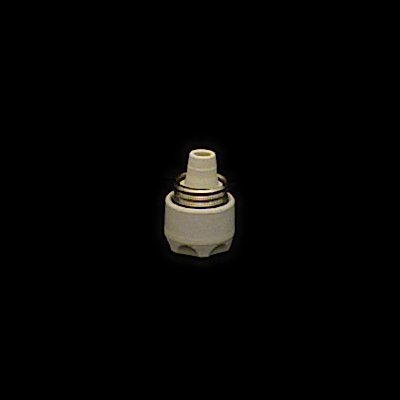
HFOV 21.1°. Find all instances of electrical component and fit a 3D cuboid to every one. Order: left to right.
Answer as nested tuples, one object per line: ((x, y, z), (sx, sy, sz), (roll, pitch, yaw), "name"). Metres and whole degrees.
((0.000, 0.000, 0.645), (0.043, 0.063, 0.043), (2, 23, 0), "electrical component")
